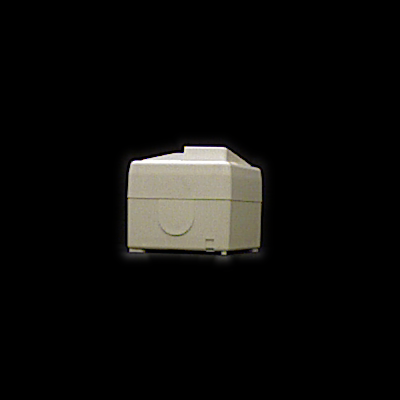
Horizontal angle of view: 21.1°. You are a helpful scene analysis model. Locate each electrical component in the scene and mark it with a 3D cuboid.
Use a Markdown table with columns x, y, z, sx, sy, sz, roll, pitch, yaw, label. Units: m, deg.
| x | y | z | sx | sy | sz | roll | pitch | yaw | label |
| --- | --- | --- | --- | --- | --- | --- | --- | --- | --- |
| 0.000 | 0.000 | 0.653 | 0.061 | 0.061 | 0.096 | 1 | 0 | 17 | electrical component |
